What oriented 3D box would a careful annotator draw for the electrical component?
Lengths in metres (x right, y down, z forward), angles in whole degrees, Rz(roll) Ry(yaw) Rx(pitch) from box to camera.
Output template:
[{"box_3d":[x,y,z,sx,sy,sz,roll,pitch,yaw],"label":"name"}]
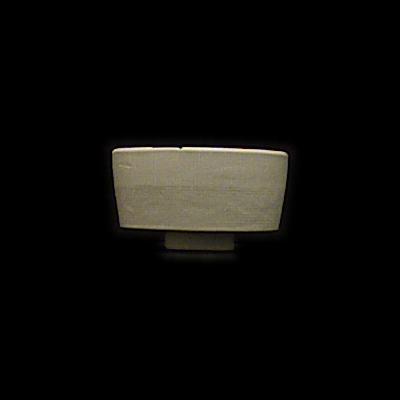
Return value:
[{"box_3d":[0.000,0.000,0.660,0.108,0.060,0.108,1,1,1],"label":"electrical component"}]
